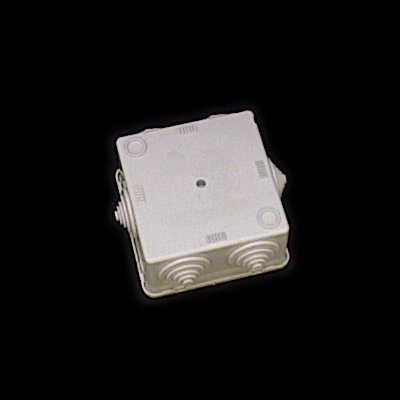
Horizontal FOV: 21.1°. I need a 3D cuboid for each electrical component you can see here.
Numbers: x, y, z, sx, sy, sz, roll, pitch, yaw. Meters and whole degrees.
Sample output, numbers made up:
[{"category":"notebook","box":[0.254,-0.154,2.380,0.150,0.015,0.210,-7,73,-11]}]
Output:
[{"category":"electrical component","box":[0.000,0.000,0.632,0.100,0.099,0.048,-12,-26,-6]}]
